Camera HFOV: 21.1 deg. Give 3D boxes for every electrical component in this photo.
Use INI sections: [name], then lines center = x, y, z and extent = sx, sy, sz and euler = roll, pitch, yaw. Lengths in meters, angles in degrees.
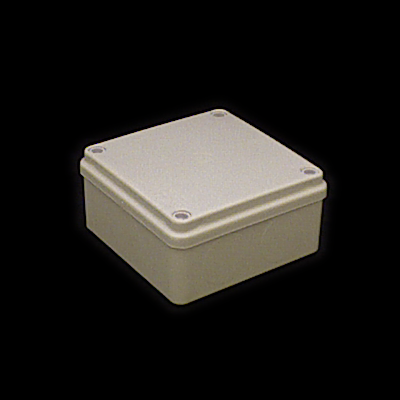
[electrical component]
center = 0.000, 0.000, 0.637
extent = 0.108, 0.057, 0.107
euler = -19, 37, -30
